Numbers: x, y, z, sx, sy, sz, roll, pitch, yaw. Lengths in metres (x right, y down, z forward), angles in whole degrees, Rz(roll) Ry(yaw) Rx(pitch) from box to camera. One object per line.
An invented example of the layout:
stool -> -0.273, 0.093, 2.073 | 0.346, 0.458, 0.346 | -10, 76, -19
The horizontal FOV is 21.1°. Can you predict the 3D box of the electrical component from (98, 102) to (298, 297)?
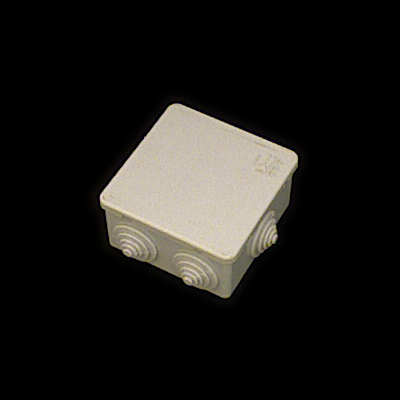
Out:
electrical component -> 0.000, 0.000, 0.641 | 0.099, 0.100, 0.049 | 24, -33, 17
